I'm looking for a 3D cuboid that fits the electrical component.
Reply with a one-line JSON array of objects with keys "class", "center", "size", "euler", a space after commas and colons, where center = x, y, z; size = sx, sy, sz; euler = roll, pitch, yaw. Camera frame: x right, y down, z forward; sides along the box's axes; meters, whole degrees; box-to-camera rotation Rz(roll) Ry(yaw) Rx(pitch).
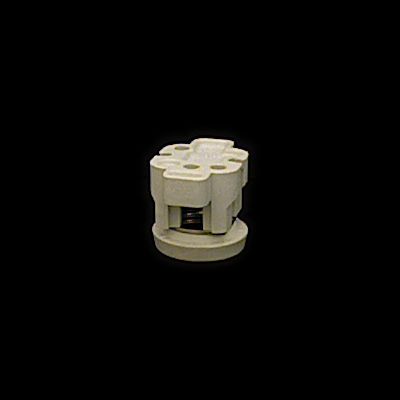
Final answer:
[{"class": "electrical component", "center": [0.000, 0.000, 0.648], "size": [0.057, 0.057, 0.078], "euler": [5, 21, 12]}]
